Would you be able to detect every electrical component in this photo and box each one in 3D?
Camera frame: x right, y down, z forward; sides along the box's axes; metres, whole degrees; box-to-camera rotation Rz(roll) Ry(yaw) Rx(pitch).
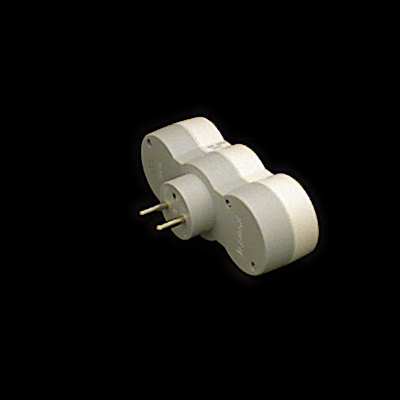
[{"bbox_3d":[0.000,0.000,0.643,0.074,0.053,0.135,-21,38,-28],"label":"electrical component"}]
